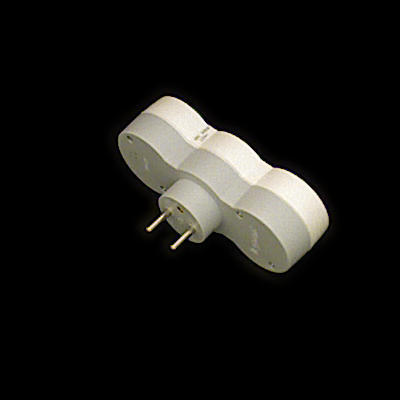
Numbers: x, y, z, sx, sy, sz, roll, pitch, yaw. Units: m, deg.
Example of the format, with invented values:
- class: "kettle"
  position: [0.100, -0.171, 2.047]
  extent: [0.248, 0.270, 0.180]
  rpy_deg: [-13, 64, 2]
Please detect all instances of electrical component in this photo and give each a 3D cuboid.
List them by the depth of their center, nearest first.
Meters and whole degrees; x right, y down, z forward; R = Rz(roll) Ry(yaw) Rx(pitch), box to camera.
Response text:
- class: "electrical component"
  position: [0.000, 0.000, 0.638]
  extent: [0.137, 0.074, 0.052]
  rpy_deg: [35, -28, 23]
